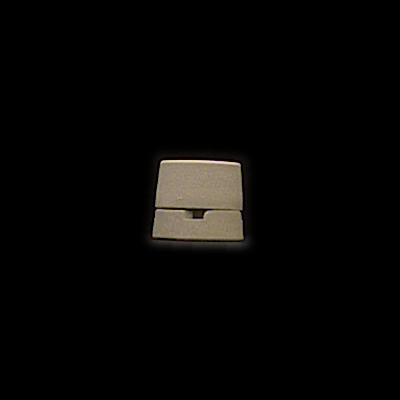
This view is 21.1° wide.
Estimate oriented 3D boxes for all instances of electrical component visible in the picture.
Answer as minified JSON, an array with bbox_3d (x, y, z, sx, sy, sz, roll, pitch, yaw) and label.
[{"bbox_3d":[0.000,0.000,0.651,0.055,0.047,0.055,2,0,0],"label":"electrical component"}]
